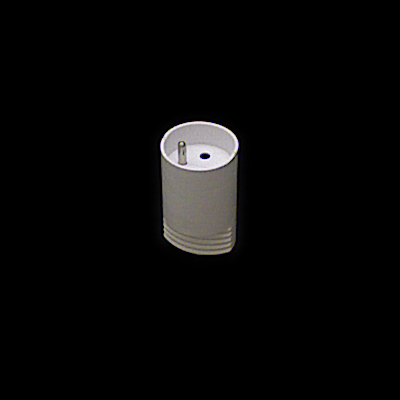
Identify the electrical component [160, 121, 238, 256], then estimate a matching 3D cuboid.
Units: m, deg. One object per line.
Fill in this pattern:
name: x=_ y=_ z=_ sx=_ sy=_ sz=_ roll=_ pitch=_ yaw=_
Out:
electrical component: x=0.000 y=0.000 z=0.622 sx=0.043 sy=0.082 sz=0.042 roll=0 pitch=41 yaw=0
